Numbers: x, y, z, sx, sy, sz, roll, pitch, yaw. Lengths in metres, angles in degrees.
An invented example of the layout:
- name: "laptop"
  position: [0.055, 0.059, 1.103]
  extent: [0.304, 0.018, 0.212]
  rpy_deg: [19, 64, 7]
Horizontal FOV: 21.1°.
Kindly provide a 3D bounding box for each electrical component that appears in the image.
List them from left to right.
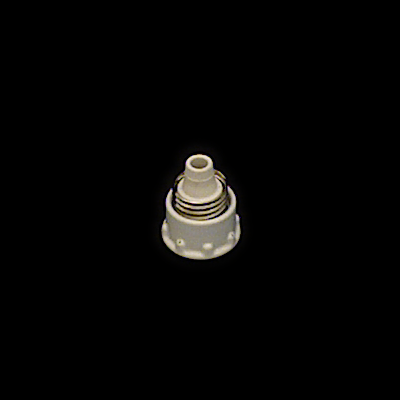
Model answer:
- name: "electrical component"
  position: [0.000, 0.000, 0.636]
  extent: [0.048, 0.062, 0.047]
  rpy_deg: [0, 43, 1]
